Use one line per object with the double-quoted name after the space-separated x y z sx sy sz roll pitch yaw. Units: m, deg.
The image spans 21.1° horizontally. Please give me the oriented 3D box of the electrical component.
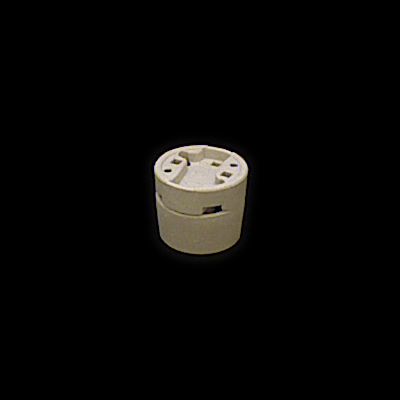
0.000 0.000 0.640 0.055 0.047 0.055 1 32 0 "electrical component"
